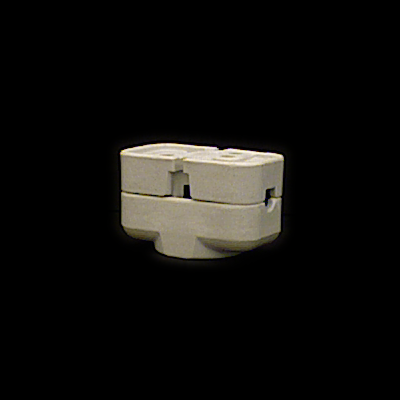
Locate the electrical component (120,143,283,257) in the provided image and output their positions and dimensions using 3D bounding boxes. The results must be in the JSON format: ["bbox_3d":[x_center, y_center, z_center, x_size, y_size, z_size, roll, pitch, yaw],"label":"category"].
[{"bbox_3d":[0.000,0.000,0.654,0.094,0.060,0.054,7,13,29],"label":"electrical component"}]
